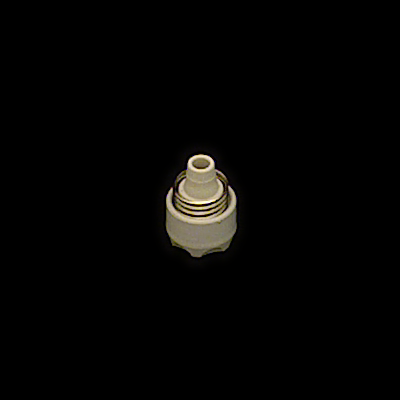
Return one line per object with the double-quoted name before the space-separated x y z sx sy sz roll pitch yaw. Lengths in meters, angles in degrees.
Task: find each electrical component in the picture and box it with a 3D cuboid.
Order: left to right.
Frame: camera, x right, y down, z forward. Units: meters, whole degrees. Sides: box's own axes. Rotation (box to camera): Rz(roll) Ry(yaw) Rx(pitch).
"electrical component" 0.000 0.000 0.637 0.043 0.062 0.043 0 44 0
